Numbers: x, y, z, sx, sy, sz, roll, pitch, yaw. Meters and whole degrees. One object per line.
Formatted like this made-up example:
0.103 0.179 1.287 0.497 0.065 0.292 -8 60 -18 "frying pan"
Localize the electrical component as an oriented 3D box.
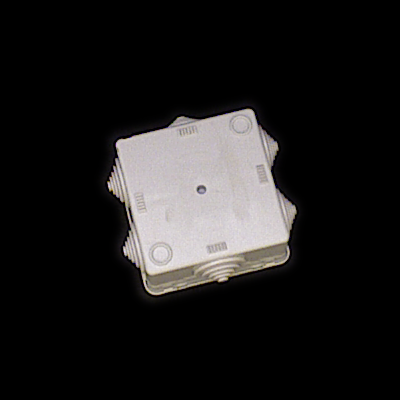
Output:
0.000 0.000 0.632 0.100 0.100 0.048 -13 -16 -4 "electrical component"
